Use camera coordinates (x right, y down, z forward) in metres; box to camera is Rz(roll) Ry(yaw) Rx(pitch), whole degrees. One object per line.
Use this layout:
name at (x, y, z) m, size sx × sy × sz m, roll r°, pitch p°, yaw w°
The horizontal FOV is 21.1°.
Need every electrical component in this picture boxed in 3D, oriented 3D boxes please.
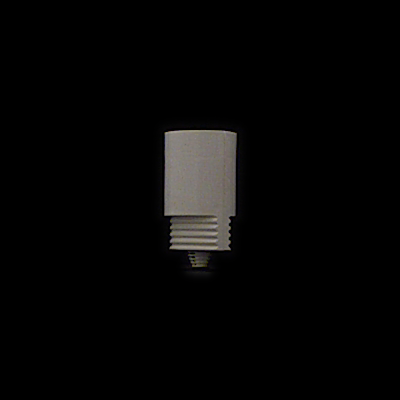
electrical component at (0.000, 0.000, 0.649) m, size 0.043 × 0.081 × 0.043 m, roll 1°, pitch 0°, yaw 0°
